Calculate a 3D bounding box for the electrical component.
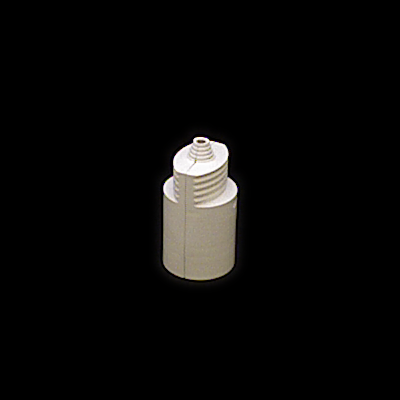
[{"bbox_3d":[0.000,0.000,0.628,0.043,0.082,0.042,1,31,0],"label":"electrical component"}]
